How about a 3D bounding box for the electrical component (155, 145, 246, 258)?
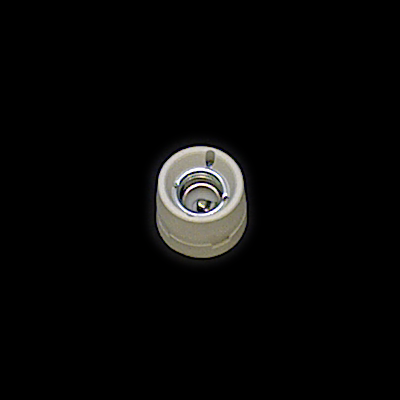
[{"bbox_3d":[0.000,0.000,0.632,0.055,0.056,0.047,0,-26,1],"label":"electrical component"}]
